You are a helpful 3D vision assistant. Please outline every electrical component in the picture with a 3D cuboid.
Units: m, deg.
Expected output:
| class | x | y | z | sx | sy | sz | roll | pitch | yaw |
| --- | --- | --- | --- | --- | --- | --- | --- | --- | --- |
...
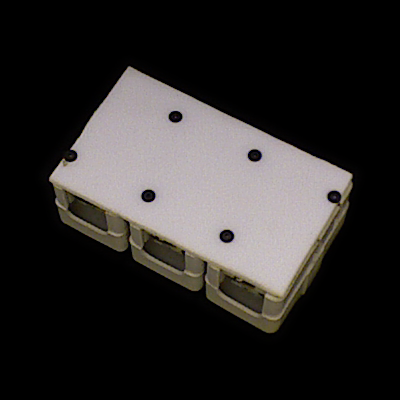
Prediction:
| class | x | y | z | sx | sy | sz | roll | pitch | yaw |
| --- | --- | --- | --- | --- | --- | --- | --- | --- | --- |
| electrical component | 0.000 | 0.000 | 0.631 | 0.150 | 0.089 | 0.062 | 27 | -24 | 13 |
